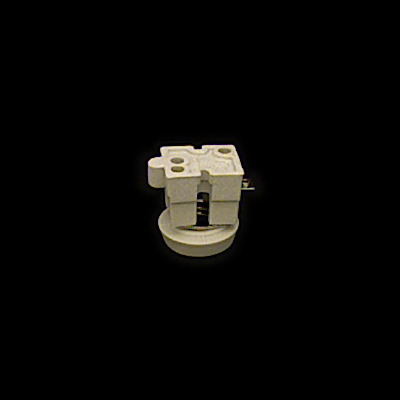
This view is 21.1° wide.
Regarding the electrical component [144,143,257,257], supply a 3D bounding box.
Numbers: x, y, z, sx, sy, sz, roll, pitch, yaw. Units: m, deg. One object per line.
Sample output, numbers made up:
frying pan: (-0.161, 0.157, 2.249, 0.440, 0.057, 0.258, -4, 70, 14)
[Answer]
electrical component: (0.000, 0.000, 0.642, 0.067, 0.056, 0.048, -3, 31, -8)
